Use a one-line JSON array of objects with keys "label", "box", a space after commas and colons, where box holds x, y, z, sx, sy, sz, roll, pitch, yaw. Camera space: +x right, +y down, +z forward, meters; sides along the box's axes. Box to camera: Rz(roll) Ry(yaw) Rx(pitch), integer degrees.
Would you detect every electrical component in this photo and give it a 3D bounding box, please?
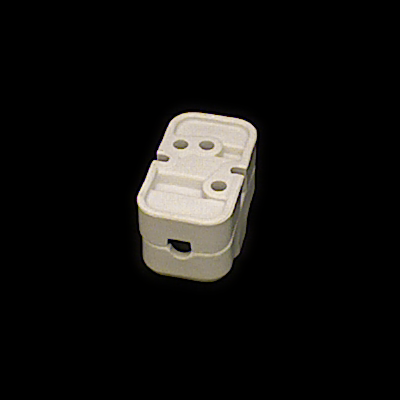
[{"label": "electrical component", "box": [0.000, 0.000, 0.637, 0.053, 0.060, 0.094, 9, 44, 10]}]
